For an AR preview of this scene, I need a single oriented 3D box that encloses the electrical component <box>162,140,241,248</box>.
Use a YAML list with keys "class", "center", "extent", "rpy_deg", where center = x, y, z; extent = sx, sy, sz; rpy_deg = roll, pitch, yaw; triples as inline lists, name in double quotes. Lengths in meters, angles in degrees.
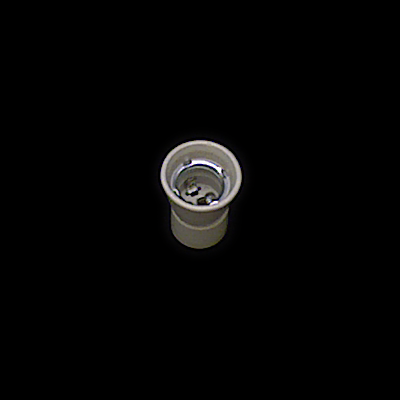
- class: "electrical component"
  center: [0.000, 0.000, 0.625]
  extent: [0.044, 0.044, 0.065]
  rpy_deg: [0, -28, -1]
